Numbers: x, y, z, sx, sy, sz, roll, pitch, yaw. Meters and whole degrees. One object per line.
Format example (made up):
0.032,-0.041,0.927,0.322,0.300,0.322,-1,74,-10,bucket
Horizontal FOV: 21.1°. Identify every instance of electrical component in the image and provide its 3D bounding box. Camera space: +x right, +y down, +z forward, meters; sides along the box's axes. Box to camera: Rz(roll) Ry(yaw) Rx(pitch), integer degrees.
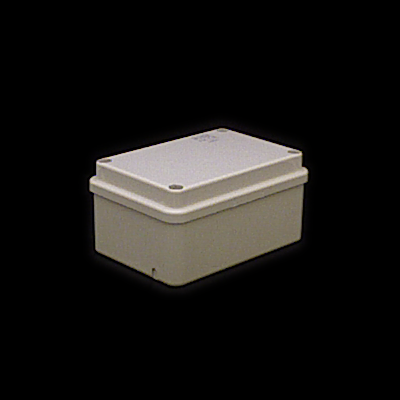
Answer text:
0.000,0.000,0.640,0.113,0.058,0.077,-18,28,-41,electrical component
